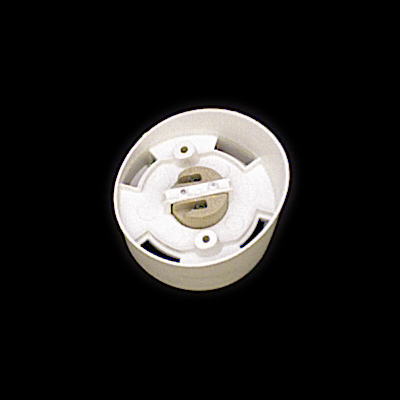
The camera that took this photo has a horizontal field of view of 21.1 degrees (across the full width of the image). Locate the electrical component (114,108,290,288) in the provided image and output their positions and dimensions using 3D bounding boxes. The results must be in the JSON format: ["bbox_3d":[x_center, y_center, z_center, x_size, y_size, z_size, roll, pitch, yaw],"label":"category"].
[{"bbox_3d":[0.000,0.000,0.625,0.099,0.099,0.064,0,-28,-1],"label":"electrical component"}]
